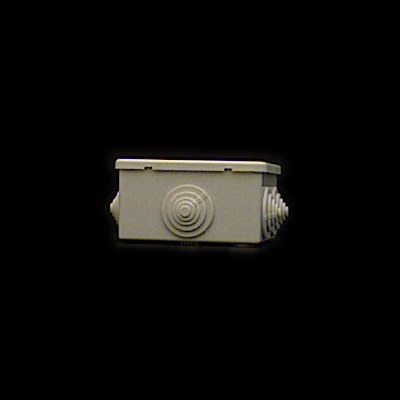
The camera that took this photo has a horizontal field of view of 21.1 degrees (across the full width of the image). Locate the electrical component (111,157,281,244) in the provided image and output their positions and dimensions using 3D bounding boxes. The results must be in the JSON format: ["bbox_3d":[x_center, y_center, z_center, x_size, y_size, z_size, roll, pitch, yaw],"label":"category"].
[{"bbox_3d":[0.000,0.000,0.656,0.099,0.048,0.100,1,1,10],"label":"electrical component"}]
